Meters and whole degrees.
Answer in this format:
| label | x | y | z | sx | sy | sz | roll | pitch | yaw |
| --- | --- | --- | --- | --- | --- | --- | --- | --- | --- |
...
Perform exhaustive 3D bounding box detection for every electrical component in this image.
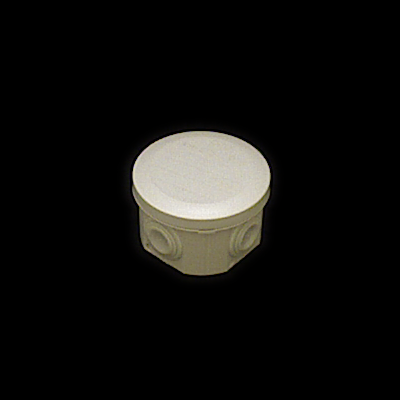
| label | x | y | z | sx | sy | sz | roll | pitch | yaw |
| --- | --- | --- | --- | --- | --- | --- | --- | --- | --- |
| electrical component | 0.000 | 0.000 | 0.633 | 0.080 | 0.051 | 0.079 | 1 | 42 | 0 |
